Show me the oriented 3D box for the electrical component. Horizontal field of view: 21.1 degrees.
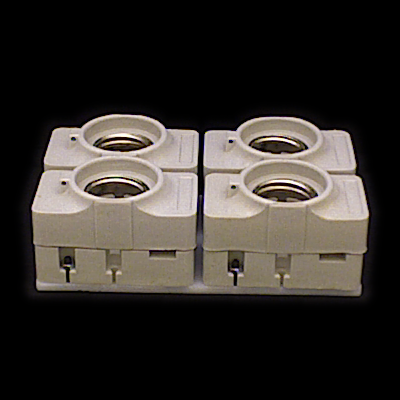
[{"bbox_3d":[0.000,0.000,0.633,0.186,0.061,0.104,1,31,0],"label":"electrical component"}]
